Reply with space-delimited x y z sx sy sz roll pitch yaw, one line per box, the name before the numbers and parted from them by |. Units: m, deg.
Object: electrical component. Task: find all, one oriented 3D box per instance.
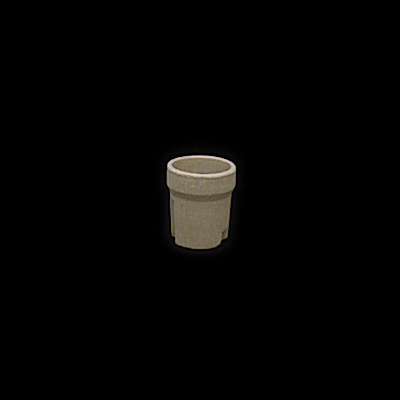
electrical component | 0.000 0.000 0.640 0.040 0.047 0.039 1 22 0
